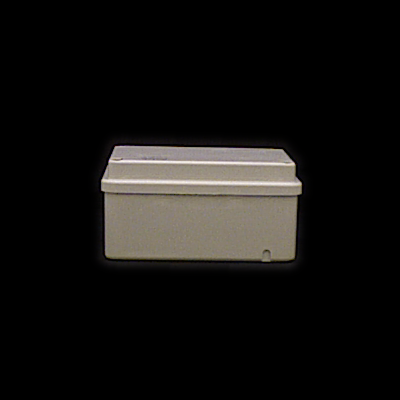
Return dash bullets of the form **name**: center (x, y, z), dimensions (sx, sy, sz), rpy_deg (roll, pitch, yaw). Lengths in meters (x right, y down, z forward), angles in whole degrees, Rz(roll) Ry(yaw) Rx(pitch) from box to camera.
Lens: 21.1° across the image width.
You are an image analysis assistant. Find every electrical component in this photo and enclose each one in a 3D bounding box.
- **electrical component**: center (0.000, 0.000, 0.641), dimensions (0.113, 0.057, 0.077), rpy_deg (1, 10, -2)
